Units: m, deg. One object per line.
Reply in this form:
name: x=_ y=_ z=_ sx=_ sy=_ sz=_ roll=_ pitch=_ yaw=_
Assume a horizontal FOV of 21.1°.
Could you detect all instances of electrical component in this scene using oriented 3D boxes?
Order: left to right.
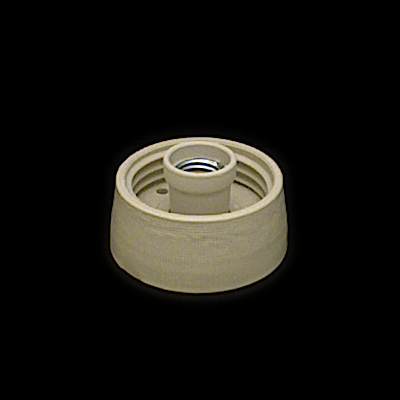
electrical component: x=0.000 y=0.000 z=0.640 sx=0.108 sy=0.061 sz=0.106 roll=1 pitch=32 yaw=0
